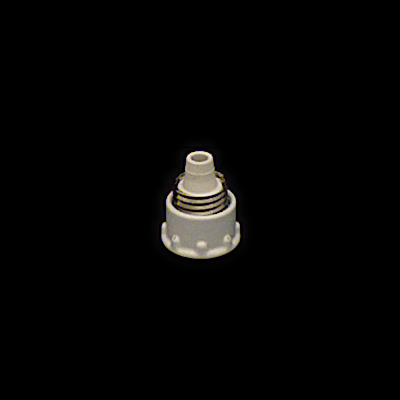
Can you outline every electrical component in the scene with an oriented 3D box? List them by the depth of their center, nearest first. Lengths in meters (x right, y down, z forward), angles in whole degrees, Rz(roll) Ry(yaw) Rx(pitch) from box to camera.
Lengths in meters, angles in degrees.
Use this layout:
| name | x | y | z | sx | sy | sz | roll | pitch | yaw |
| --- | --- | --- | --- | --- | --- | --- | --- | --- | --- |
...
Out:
| name | x | y | z | sx | sy | sz | roll | pitch | yaw |
| --- | --- | --- | --- | --- | --- | --- | --- | --- | --- |
| electrical component | 0.000 | 0.000 | 0.639 | 0.048 | 0.063 | 0.047 | 0 | 32 | 1 |
